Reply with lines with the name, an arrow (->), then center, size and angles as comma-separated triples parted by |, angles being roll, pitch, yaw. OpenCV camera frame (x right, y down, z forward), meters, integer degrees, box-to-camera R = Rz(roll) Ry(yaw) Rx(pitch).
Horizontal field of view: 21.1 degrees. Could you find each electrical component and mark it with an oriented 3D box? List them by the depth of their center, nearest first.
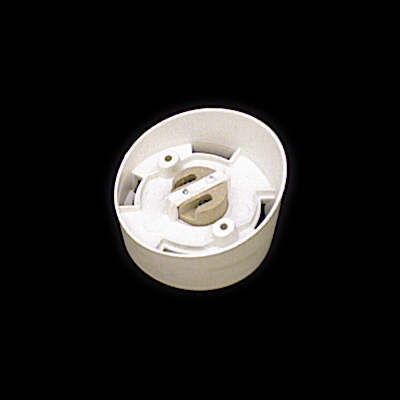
electrical component -> 0.000, 0.000, 0.626 | 0.099, 0.098, 0.064 | 0, -38, -1
